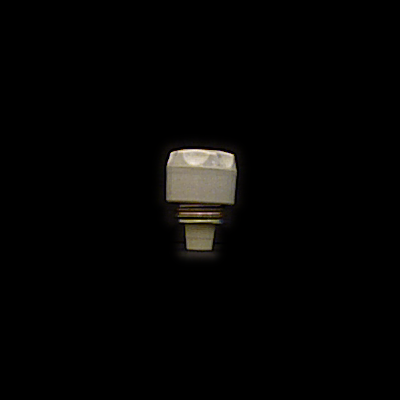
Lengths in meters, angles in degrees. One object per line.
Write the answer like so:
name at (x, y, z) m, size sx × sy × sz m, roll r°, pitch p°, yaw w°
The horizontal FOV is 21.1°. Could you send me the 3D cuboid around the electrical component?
electrical component at (0.000, 0.000, 0.657) m, size 0.043 × 0.062 × 0.043 m, roll 2°, pitch 2°, yaw 0°
